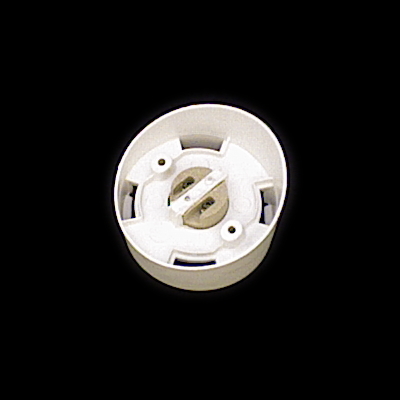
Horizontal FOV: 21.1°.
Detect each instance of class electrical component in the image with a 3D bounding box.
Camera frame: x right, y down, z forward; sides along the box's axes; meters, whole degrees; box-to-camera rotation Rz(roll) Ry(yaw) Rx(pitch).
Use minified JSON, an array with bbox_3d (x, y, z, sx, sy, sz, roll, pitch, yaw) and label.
[{"bbox_3d":[0.000,0.000,0.625,0.099,0.099,0.064,0,-28,-1],"label":"electrical component"}]
